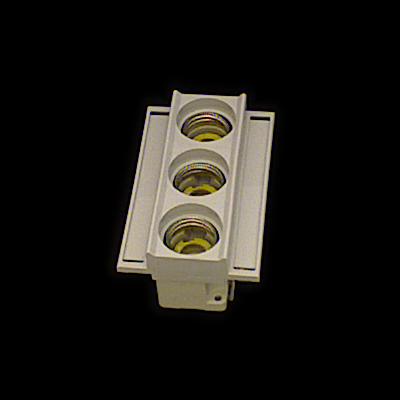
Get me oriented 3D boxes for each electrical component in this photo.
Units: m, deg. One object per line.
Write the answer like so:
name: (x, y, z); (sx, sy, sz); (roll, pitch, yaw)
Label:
electrical component: (0.000, 0.000, 0.638); (0.078, 0.120, 0.063); (4, -37, 5)
